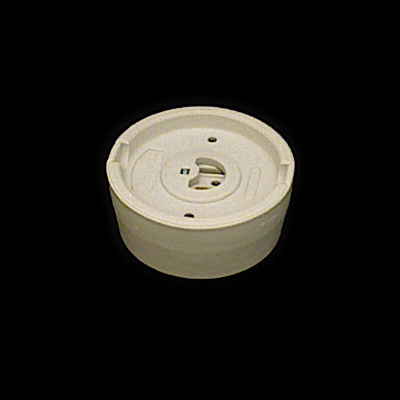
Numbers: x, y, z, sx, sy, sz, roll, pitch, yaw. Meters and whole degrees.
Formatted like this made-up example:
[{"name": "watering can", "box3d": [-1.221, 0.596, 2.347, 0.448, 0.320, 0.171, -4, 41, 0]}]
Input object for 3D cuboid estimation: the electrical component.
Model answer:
[{"name": "electrical component", "box3d": [0.000, 0.000, 0.636, 0.108, 0.061, 0.107, 1, 43, 0]}]
